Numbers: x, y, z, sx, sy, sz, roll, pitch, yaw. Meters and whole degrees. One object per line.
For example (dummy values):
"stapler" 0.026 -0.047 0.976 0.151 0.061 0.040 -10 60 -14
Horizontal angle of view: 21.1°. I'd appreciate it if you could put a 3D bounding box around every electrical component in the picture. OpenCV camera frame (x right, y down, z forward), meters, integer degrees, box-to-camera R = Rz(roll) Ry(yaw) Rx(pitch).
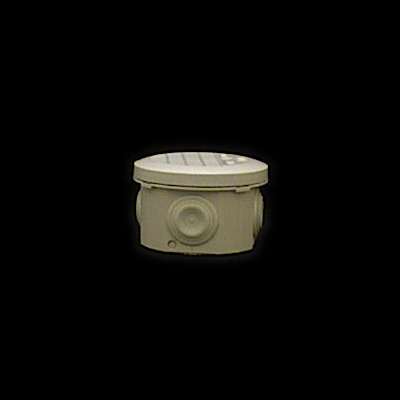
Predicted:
"electrical component" 0.000 0.000 0.642 0.080 0.051 0.079 1 11 0
